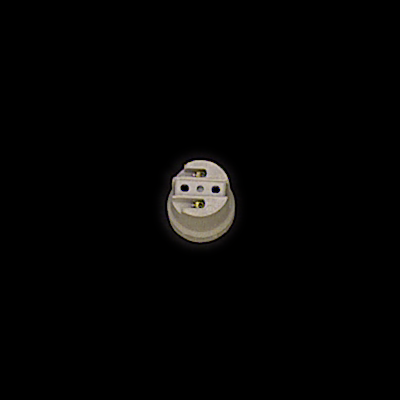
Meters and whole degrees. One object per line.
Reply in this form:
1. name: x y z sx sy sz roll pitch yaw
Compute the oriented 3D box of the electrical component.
1. electrical component: 0.000 0.000 0.633 0.040 0.040 0.046 0 -17 0
